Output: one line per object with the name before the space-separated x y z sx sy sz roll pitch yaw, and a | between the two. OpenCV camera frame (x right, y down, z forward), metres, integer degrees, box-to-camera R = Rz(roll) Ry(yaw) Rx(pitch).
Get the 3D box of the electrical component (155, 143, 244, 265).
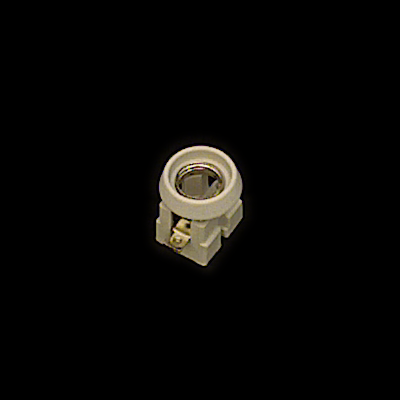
electrical component | 0.000 0.000 0.637 0.048 0.066 0.055 24 -33 19
